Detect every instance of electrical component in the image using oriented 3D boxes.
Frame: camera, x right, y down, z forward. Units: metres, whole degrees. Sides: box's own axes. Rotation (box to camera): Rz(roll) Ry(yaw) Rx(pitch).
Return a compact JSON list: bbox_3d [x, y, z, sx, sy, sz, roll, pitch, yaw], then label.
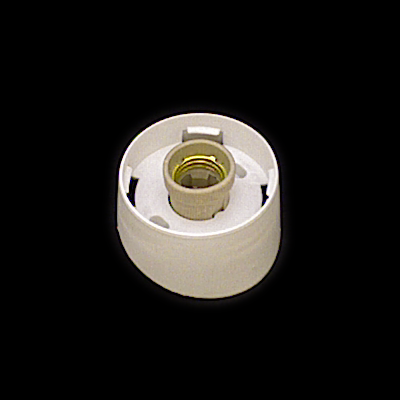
[{"bbox_3d":[0.000,0.000,0.627,0.099,0.098,0.064,0,-37,-1],"label":"electrical component"}]
